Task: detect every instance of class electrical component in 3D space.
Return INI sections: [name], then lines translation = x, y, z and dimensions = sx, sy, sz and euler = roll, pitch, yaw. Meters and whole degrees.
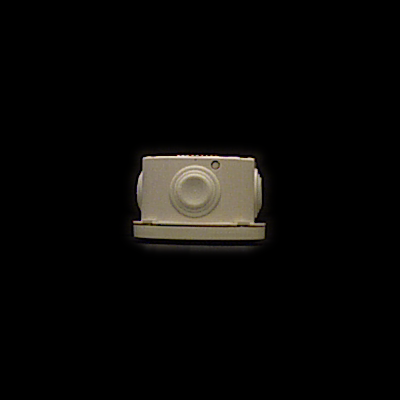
[electrical component]
translation = 0.000, 0.000, 0.651
dimensions = 0.080, 0.051, 0.080
euler = 1, 0, 0
